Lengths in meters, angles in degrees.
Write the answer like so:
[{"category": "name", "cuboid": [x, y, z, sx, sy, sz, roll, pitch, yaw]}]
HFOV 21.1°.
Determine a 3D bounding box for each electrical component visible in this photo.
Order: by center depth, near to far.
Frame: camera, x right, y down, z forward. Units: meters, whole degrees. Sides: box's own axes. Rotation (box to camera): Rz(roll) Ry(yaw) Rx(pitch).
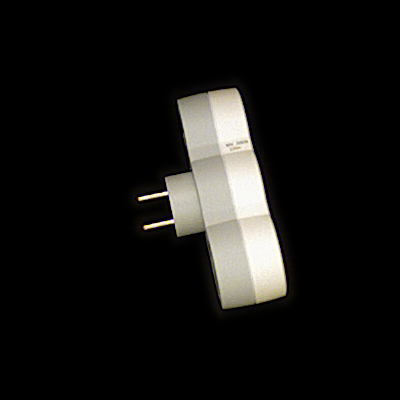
[{"category": "electrical component", "cuboid": [0.000, 0.000, 0.638, 0.074, 0.138, 0.052, -11, -26, -4]}]
